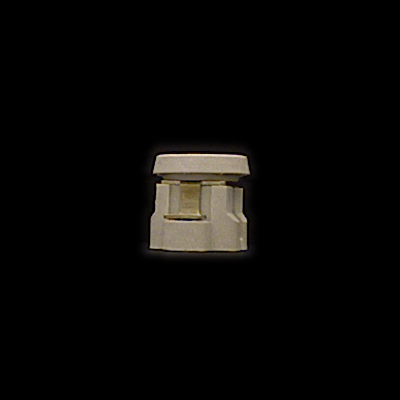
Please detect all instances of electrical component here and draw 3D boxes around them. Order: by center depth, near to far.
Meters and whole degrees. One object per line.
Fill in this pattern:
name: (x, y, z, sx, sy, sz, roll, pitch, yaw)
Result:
electrical component: (0.000, 0.000, 0.648, 0.058, 0.057, 0.078, 1, 0, 15)
